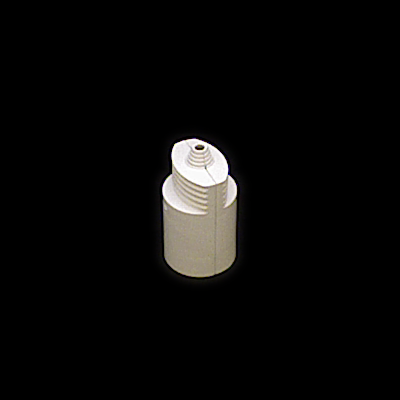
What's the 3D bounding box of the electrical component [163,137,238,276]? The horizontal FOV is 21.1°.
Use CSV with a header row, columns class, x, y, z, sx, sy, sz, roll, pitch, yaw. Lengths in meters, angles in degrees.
class,x,y,z,sx,sy,sz,roll,pitch,yaw
electrical component,0.000,0.000,0.624,0.043,0.082,0.042,0,41,0
